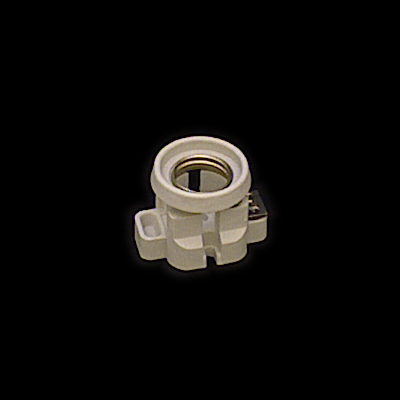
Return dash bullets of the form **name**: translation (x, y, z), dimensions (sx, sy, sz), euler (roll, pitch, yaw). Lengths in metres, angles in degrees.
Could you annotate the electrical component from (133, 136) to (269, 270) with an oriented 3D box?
- **electrical component**: translation (0.000, 0.000, 0.633), dimensions (0.078, 0.057, 0.057), euler (-9, 43, -11)
